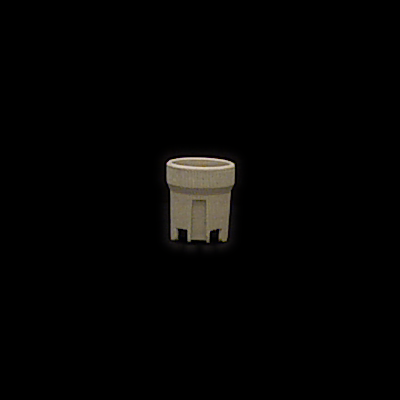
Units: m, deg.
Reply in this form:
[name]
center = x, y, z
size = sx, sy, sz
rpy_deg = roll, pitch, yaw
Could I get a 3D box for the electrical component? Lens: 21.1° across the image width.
[electrical component]
center = 0.000, 0.000, 0.642
size = 0.040, 0.046, 0.040
rpy_deg = 1, 11, 0
